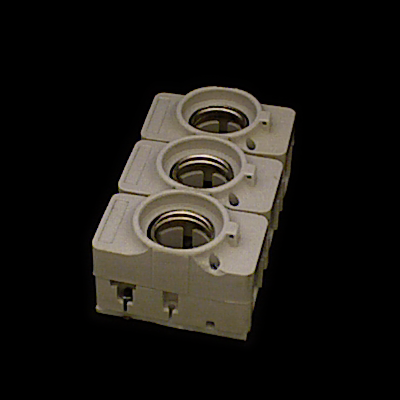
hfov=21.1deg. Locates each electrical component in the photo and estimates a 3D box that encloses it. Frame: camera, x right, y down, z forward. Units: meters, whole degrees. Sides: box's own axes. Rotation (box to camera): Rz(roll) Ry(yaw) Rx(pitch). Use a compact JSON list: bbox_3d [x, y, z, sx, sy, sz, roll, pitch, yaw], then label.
[{"bbox_3d":[0.000,0.000,0.637,0.089,0.063,0.147,9,43,8],"label":"electrical component"}]
